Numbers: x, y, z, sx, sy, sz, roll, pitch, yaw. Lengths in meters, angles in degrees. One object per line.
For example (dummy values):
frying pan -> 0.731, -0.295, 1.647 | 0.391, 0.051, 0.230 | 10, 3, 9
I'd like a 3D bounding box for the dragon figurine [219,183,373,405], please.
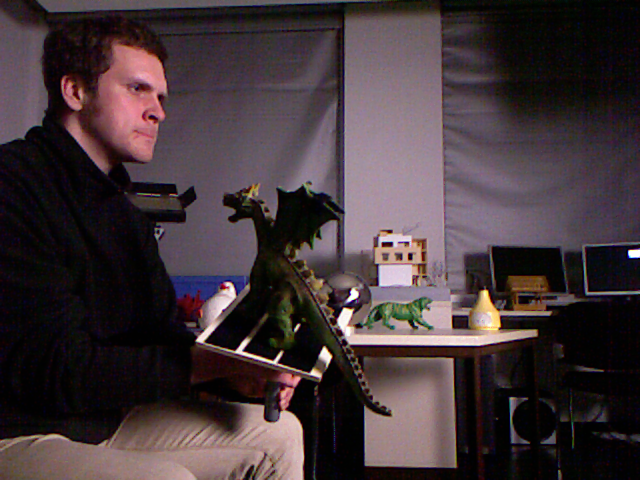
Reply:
dragon figurine -> -0.035, 0.036, 0.791 | 0.123, 0.238, 0.416 | -15, 36, -38
